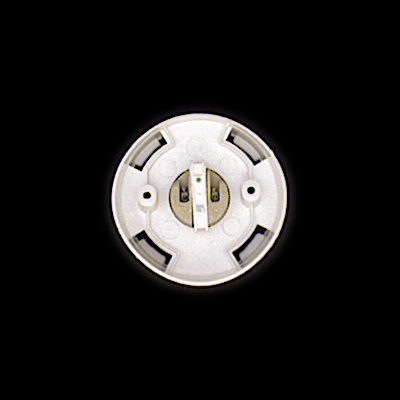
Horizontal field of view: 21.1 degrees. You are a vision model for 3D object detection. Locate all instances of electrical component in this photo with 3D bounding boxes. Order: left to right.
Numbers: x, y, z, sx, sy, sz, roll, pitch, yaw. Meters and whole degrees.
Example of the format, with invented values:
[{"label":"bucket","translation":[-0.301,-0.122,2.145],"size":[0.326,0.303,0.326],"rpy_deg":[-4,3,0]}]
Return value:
[{"label":"electrical component","translation":[0.000,0.000,0.624],"size":[0.099,0.099,0.064],"rpy_deg":[0,-6,-1]}]
